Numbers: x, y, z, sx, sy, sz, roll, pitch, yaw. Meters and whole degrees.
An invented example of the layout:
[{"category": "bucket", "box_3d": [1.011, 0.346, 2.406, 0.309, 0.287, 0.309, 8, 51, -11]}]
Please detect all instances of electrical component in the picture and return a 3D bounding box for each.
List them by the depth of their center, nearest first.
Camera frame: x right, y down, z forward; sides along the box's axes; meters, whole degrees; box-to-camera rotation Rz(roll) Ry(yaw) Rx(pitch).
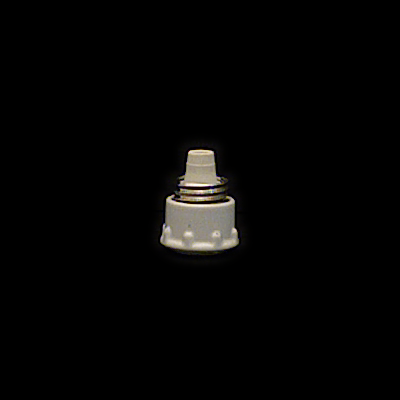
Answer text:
[{"category": "electrical component", "box_3d": [0.000, 0.000, 0.649, 0.048, 0.062, 0.048, 1, 13, 0]}]
